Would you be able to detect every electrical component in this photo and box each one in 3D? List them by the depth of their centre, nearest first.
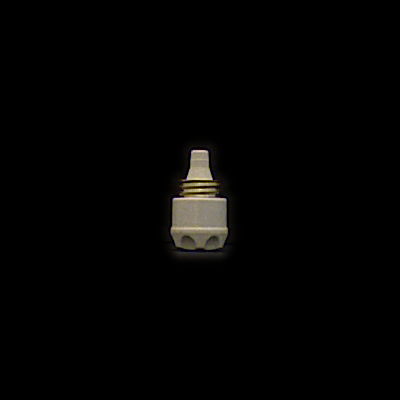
[{"bbox_3d":[0.000,0.000,0.661,0.035,0.061,0.035,0,0,0],"label":"electrical component"}]
